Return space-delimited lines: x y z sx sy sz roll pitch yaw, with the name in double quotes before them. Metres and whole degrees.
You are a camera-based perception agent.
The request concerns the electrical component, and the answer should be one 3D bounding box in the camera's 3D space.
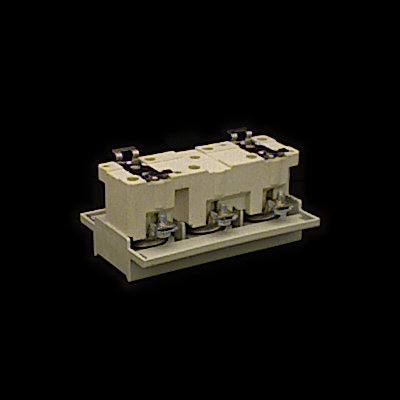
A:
"electrical component" 0.000 0.000 0.644 0.122 0.064 0.077 -12 26 -30
